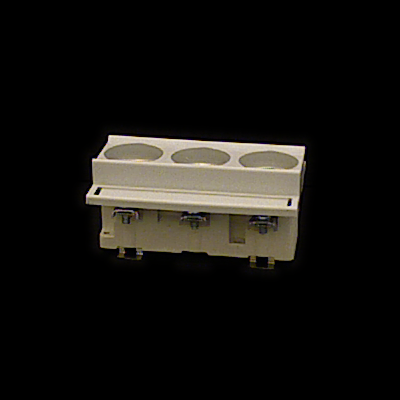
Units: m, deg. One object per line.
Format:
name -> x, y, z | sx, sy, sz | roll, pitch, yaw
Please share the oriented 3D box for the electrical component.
electrical component -> 0.000, 0.000, 0.650 | 0.121, 0.064, 0.077 | 4, 23, 7
